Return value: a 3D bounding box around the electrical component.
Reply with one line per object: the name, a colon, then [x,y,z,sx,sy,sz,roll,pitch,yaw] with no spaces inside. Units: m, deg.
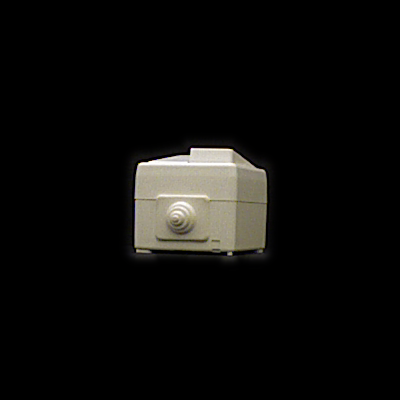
electrical component: [0.000,0.000,0.647,0.061,0.061,0.096,1,0,17]
